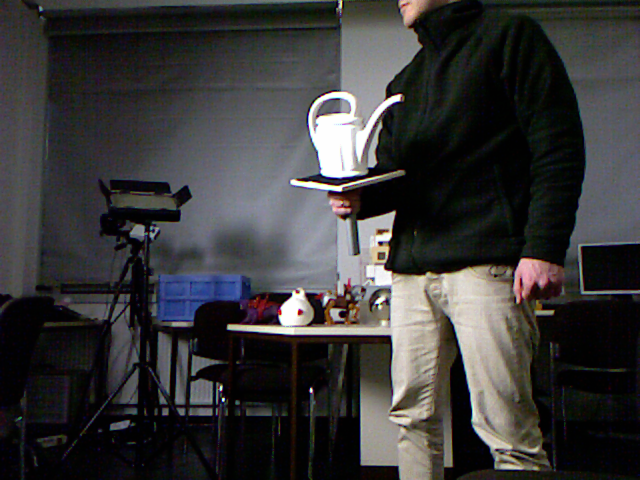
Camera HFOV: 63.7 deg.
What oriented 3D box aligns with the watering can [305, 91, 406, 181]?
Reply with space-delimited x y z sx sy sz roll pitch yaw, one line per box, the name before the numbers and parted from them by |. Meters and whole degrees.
watering can | 0.077 -0.240 1.221 0.105 0.222 0.350 -20 21 -33
